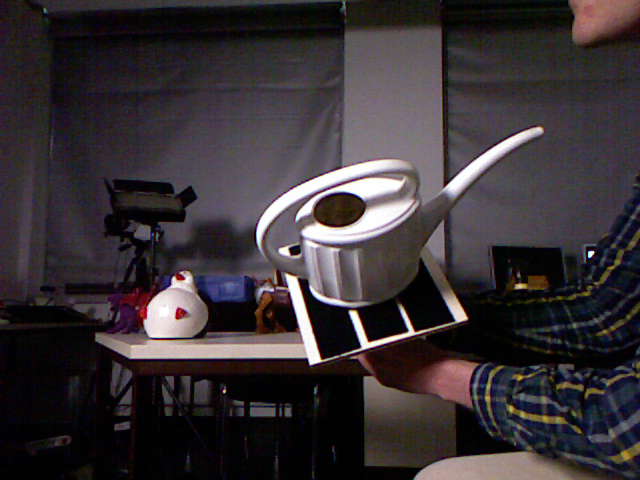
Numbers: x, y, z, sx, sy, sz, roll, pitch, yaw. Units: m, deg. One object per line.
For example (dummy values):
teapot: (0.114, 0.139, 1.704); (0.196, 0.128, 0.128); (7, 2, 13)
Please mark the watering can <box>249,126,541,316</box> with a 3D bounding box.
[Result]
watering can: (0.092, -0.018, 0.630); (0.351, 0.107, 0.221); (-16, -40, -4)
